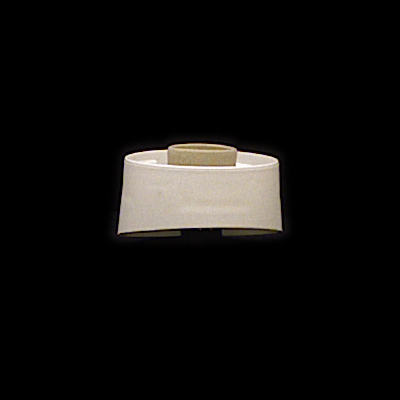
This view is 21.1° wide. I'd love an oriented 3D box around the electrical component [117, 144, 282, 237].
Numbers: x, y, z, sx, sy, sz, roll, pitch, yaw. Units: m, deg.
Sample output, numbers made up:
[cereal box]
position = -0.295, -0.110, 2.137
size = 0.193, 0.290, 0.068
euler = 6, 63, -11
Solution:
[electrical component]
position = 0.000, 0.000, 0.643
size = 0.099, 0.064, 0.098
euler = 1, 10, 0
